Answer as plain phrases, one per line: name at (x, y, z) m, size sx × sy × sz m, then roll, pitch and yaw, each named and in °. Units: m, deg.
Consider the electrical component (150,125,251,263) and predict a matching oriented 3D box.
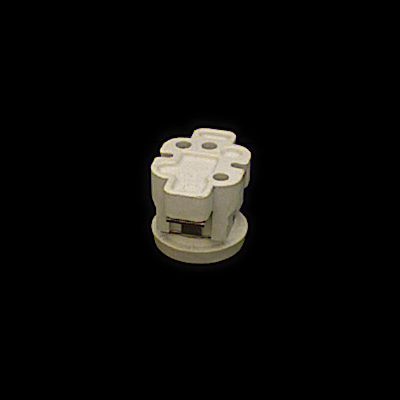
electrical component at (0.000, 0.000, 0.641) m, size 0.057 × 0.057 × 0.078 m, roll 8°, pitch 34°, yaw 10°
